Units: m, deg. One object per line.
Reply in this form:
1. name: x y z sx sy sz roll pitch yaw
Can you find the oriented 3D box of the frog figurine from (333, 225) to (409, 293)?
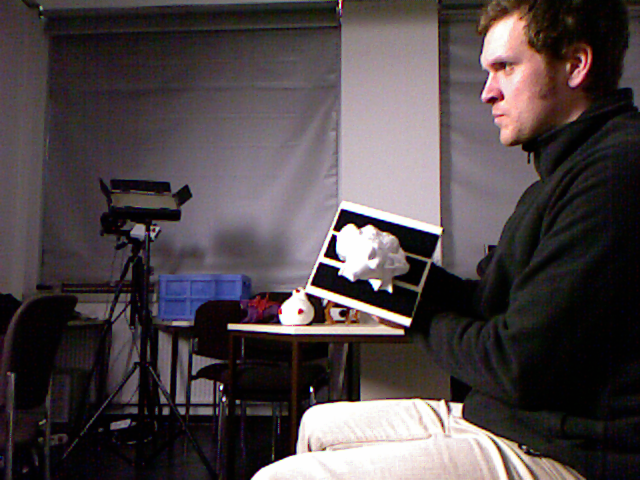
1. frog figurine: 0.085 0.021 0.892 0.139 0.125 0.157 35 -16 19
